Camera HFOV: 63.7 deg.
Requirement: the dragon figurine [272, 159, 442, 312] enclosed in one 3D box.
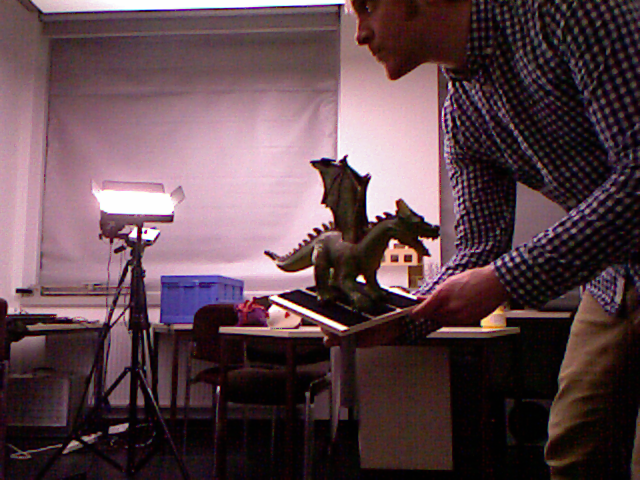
[{"bbox_3d":[0.027,-0.019,0.886,0.123,0.240,0.412,-11,17,-41],"label":"dragon figurine"}]
